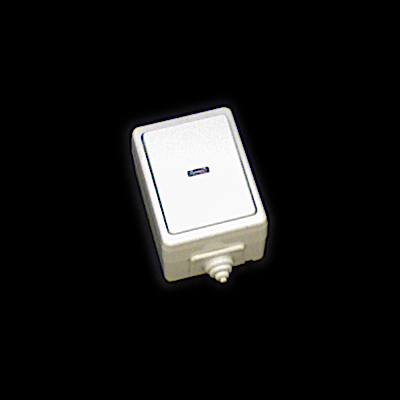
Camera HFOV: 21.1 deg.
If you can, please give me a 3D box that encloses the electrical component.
[{"bbox_3d":[0.000,0.000,0.625,0.062,0.096,0.060,-14,-26,-7],"label":"electrical component"}]
